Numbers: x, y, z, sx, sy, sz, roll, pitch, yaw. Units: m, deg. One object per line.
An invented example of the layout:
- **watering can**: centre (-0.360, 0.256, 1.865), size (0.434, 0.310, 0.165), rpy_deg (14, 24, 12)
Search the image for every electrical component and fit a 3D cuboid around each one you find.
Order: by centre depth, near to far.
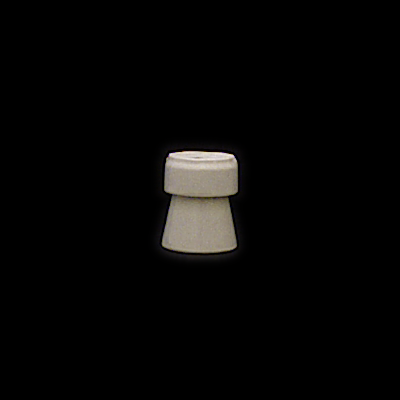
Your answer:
- **electrical component**: centre (0.000, 0.000, 0.646), size (0.045, 0.055, 0.044), rpy_deg (2, 11, 0)
